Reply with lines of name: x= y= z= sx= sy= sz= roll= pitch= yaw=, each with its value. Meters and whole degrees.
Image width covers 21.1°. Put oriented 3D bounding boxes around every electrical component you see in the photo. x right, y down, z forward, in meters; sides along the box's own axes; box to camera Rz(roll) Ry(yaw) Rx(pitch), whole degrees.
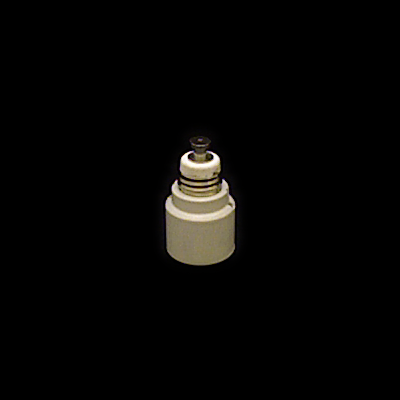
electrical component: x=0.000 y=0.000 z=0.629 sx=0.040 sy=0.079 sz=0.039 roll=0 pitch=32 yaw=0
